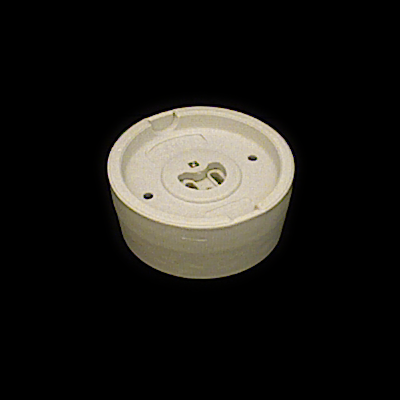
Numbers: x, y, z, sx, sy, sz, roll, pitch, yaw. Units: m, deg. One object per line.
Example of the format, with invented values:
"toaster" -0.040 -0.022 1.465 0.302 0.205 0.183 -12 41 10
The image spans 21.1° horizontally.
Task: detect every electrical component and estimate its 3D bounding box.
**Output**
"electrical component" 0.000 0.000 0.639 0.108 0.061 0.107 1 43 0
